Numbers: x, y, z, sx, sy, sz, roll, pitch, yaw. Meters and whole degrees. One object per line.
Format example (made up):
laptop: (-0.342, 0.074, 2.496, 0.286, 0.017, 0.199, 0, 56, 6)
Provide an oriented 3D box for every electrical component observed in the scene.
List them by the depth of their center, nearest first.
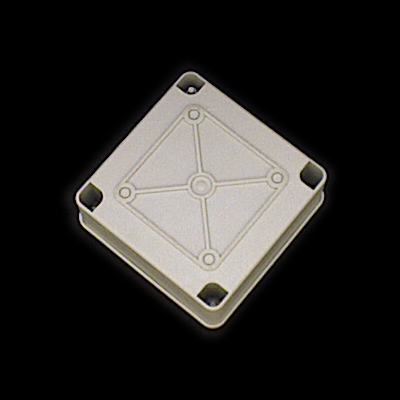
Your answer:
electrical component: (0.000, 0.000, 0.628, 0.108, 0.109, 0.056, 38, -14, 11)
